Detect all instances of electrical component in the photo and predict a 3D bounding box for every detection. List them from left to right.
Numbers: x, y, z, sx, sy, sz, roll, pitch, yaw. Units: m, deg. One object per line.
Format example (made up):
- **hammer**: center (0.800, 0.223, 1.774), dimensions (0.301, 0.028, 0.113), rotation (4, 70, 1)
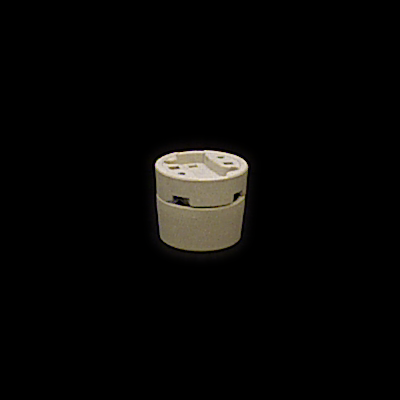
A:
- **electrical component**: center (0.000, 0.000, 0.642), dimensions (0.055, 0.047, 0.055), rotation (1, 22, 0)
